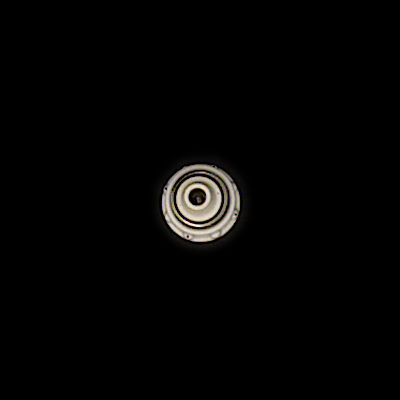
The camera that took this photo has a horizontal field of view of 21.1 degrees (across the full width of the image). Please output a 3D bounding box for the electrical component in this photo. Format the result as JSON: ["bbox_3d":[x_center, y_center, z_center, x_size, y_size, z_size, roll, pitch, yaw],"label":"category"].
[{"bbox_3d":[0.000,0.000,0.634,0.048,0.048,0.062,0,-5,2],"label":"electrical component"}]
